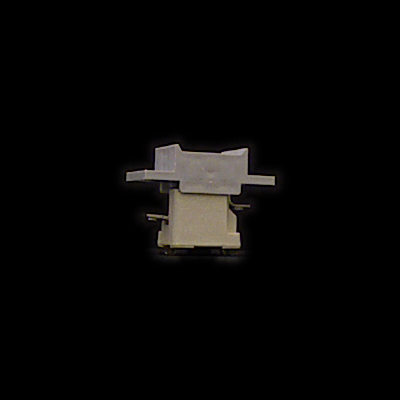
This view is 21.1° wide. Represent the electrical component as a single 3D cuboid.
[{"bbox_3d":[0.000,0.000,0.648,0.081,0.064,0.042,2,2,-19],"label":"electrical component"}]
